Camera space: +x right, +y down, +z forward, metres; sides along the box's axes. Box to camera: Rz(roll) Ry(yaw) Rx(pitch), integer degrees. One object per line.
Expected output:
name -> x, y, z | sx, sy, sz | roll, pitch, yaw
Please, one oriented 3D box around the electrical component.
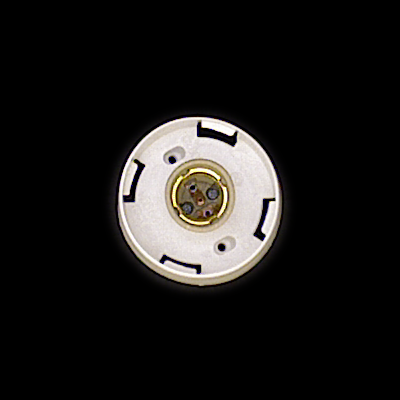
electrical component -> 0.000, 0.000, 0.625 | 0.099, 0.099, 0.064 | 0, -7, 0
